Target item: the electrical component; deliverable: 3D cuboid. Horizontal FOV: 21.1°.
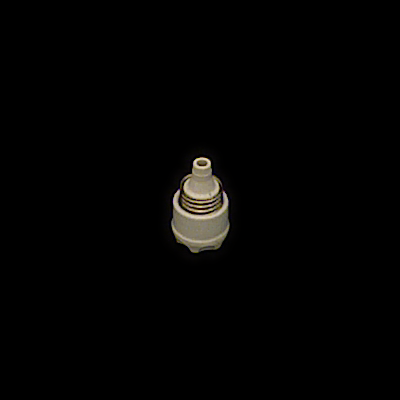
[{"bbox_3d":[0.000,0.000,0.643,0.035,0.062,0.034,1,43,-1],"label":"electrical component"}]
